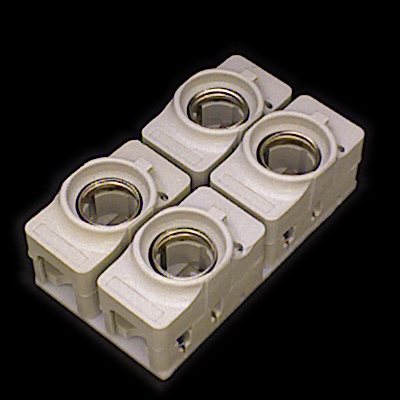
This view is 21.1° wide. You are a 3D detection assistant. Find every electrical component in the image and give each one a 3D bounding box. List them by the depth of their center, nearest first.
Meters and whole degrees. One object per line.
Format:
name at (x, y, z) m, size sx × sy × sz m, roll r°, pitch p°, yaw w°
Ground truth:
electrical component at (0.000, 0.000, 0.628) m, size 0.105 × 0.060 × 0.186 m, roll 35°, pitch 59°, yaw 23°
